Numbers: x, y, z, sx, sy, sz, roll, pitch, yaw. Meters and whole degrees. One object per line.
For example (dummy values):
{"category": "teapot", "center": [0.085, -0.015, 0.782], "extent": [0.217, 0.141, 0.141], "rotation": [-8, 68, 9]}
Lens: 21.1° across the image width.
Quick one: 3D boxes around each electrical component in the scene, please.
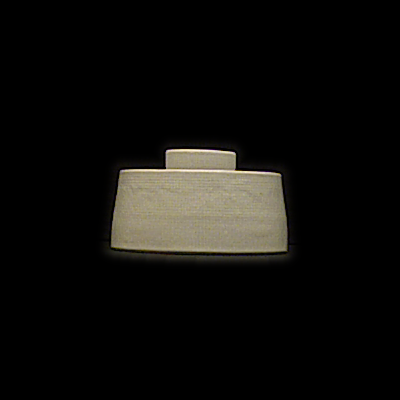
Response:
{"category": "electrical component", "center": [0.000, 0.000, 0.655], "extent": [0.108, 0.060, 0.108], "rotation": [1, 1, 1]}
